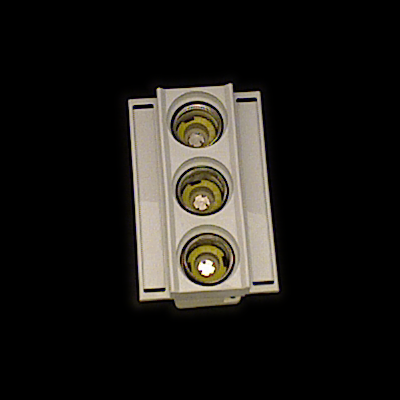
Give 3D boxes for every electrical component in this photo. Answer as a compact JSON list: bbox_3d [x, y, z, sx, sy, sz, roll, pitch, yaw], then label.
[{"bbox_3d":[0.000,0.000,0.637,0.079,0.121,0.063,-4,-16,-2],"label":"electrical component"}]
